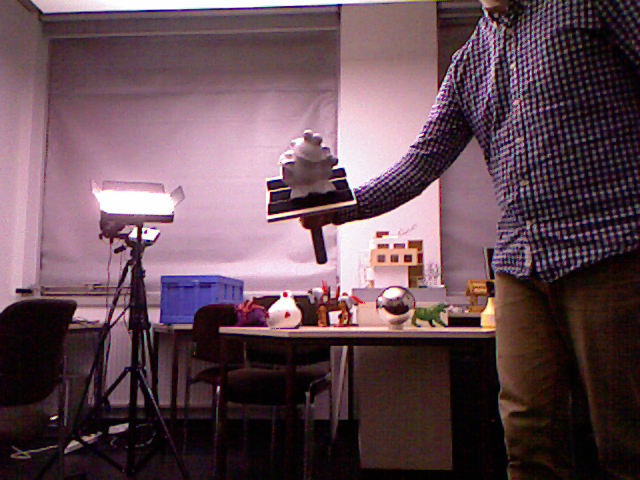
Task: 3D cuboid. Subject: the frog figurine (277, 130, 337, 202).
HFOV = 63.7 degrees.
[{"bbox_3d":[-0.032,-0.182,1.172,0.137,0.156,0.125,-2,35,11],"label":"frog figurine"}]
